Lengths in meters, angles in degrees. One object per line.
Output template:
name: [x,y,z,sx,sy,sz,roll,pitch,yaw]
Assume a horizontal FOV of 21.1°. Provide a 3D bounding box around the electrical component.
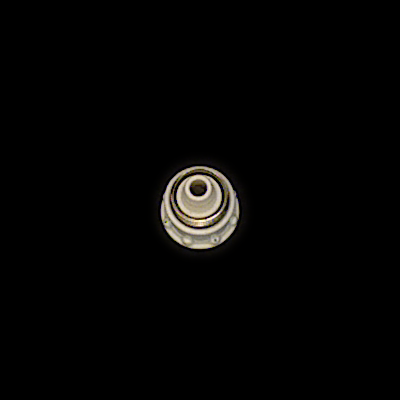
electrical component: [0.000,0.000,0.633,0.048,0.048,0.061,0,-15,1]
